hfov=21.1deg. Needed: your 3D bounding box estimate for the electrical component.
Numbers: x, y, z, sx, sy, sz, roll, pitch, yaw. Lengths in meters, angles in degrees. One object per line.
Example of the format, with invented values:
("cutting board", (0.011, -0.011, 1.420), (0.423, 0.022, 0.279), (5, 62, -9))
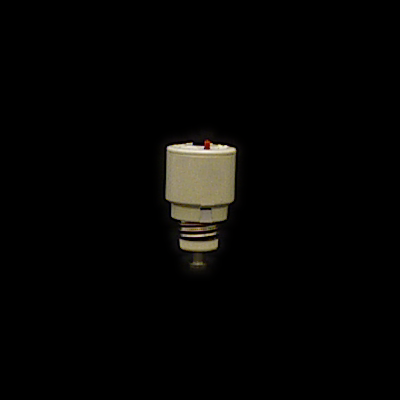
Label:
("electrical component", (0.000, 0.000, 0.639), (0.040, 0.079, 0.040), (1, 12, 0))
